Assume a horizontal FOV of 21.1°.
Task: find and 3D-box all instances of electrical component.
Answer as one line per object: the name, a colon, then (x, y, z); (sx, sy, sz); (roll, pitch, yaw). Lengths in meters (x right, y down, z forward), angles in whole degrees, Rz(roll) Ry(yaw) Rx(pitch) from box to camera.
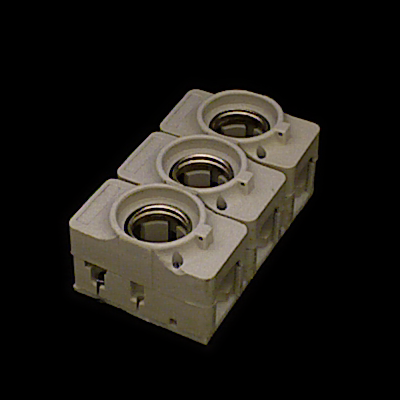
electrical component: (0.000, 0.000, 0.636); (0.089, 0.063, 0.148); (20, 46, 19)
